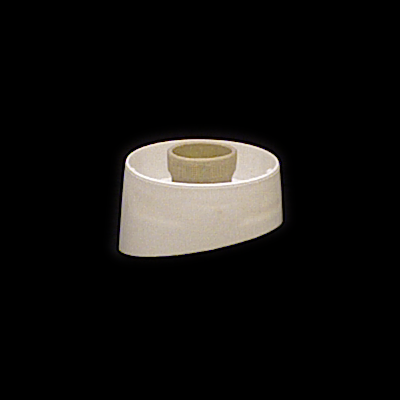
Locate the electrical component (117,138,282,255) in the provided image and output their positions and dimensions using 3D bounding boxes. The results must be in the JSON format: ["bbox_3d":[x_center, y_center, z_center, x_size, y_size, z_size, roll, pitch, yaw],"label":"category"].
[{"bbox_3d":[0.000,0.000,0.638,0.099,0.065,0.097,1,20,0],"label":"electrical component"}]
